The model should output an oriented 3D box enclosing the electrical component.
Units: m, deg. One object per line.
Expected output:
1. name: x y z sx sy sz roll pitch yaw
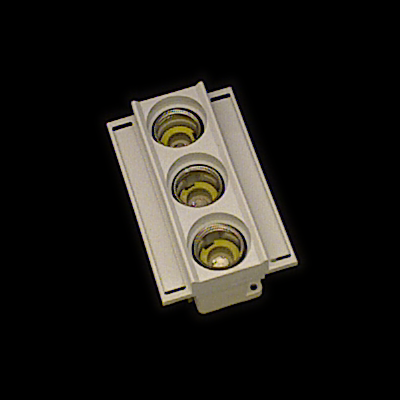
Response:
1. electrical component: 0.000 0.000 0.637 0.079 0.121 0.063 -16 -25 -6
